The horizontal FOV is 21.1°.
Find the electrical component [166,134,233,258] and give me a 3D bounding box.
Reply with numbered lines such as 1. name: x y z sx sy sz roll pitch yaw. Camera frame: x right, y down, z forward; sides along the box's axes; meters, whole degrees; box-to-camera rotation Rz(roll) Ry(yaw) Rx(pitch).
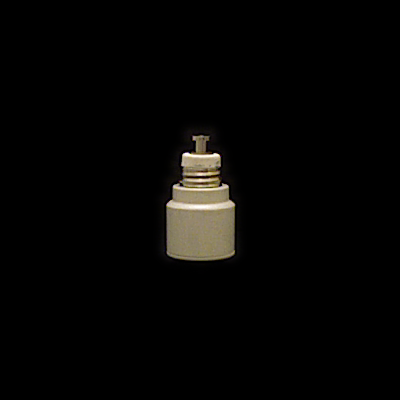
1. electrical component: 0.000 0.000 0.642 0.040 0.079 0.040 0 12 0
